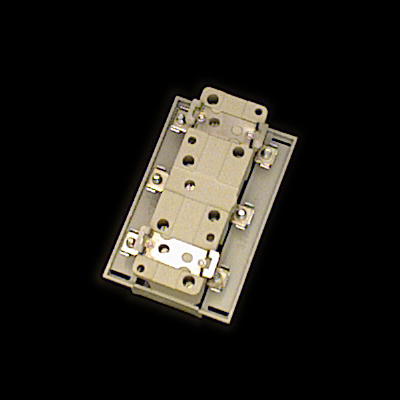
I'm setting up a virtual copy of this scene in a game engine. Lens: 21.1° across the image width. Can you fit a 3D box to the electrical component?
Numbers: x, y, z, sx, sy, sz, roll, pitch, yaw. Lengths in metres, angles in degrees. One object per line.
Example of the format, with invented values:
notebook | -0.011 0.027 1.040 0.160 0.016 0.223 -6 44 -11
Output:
electrical component | 0.000 0.000 0.633 0.078 0.122 0.062 20 -15 5
